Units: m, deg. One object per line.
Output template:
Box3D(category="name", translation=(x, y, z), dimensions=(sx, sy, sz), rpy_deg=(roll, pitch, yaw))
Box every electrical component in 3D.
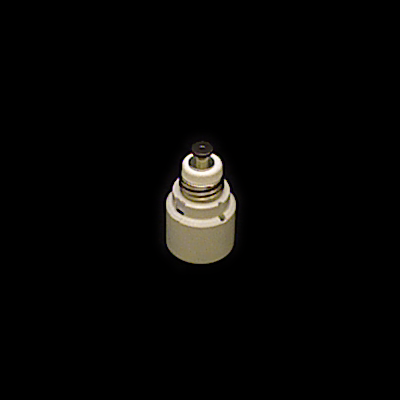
Box3D(category="electrical component", translation=(0.000, 0.000, 0.625), dimensions=(0.040, 0.079, 0.039), rpy_deg=(1, 42, -1))
